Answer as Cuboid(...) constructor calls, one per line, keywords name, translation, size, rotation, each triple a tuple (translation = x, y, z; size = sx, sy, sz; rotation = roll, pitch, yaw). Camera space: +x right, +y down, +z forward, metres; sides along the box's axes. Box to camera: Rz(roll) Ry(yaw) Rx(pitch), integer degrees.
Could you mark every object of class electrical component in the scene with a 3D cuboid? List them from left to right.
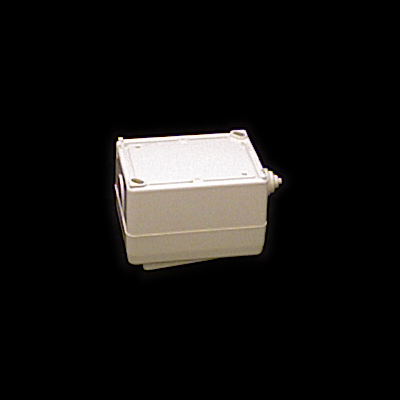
Cuboid(name="electrical component", translation=(0.000, 0.000, 0.633), size=(0.096, 0.061, 0.061), rotation=(-4, 32, -10))
